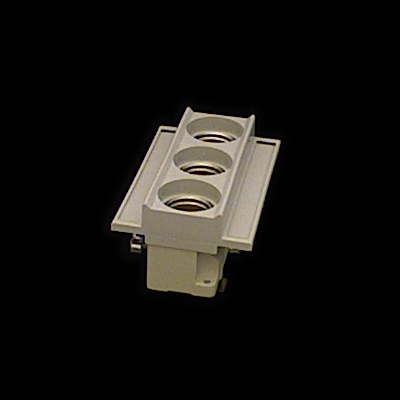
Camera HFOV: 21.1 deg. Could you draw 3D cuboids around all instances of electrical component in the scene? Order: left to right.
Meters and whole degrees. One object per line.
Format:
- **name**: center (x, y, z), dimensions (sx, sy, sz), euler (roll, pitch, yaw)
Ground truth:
- **electrical component**: center (0.000, 0.000, 0.647), dimensions (0.078, 0.064, 0.119), euler (8, 32, 8)
